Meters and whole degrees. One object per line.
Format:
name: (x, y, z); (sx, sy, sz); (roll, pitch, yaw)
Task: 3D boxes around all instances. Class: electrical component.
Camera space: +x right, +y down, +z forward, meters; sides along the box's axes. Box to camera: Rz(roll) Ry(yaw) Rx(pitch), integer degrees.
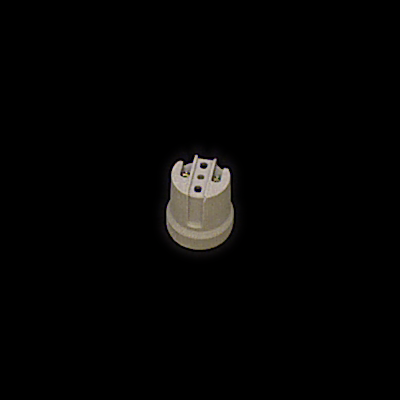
electrical component: (0.000, 0.000, 0.634); (0.040, 0.040, 0.046); (0, -37, -1)
